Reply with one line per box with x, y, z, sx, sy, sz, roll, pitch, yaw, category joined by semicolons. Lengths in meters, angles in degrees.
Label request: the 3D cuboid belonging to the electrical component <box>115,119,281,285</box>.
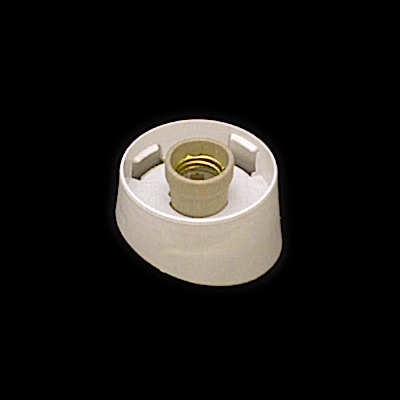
0.000;0.000;0.629;0.099;0.064;0.098;1;42;-1;electrical component
